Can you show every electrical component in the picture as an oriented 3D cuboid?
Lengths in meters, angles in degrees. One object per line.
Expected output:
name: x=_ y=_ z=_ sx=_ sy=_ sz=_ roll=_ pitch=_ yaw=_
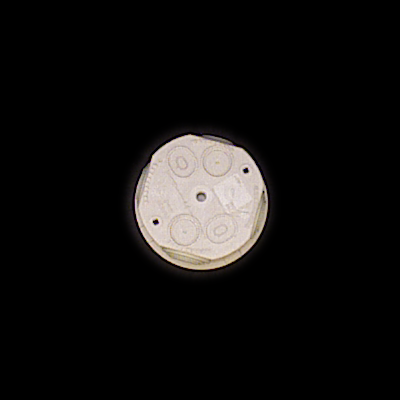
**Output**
electrical component: x=0.000 y=0.000 z=0.633 sx=0.080 sy=0.080 sz=0.050 roll=0 pitch=-7 yaw=0
